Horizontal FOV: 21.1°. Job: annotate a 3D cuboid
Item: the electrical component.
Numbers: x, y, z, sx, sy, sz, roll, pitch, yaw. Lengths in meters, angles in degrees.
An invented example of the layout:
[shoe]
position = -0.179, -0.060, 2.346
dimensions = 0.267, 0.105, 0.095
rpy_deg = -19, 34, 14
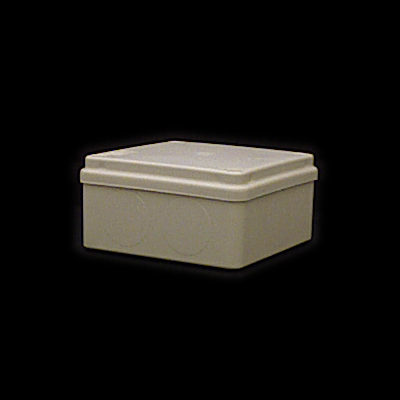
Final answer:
[electrical component]
position = 0.000, 0.000, 0.645
dimensions = 0.108, 0.056, 0.108
rpy_deg = 7, 12, 28
